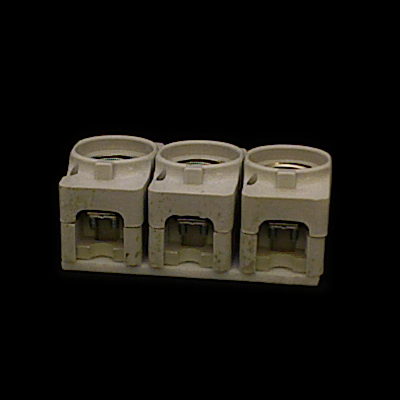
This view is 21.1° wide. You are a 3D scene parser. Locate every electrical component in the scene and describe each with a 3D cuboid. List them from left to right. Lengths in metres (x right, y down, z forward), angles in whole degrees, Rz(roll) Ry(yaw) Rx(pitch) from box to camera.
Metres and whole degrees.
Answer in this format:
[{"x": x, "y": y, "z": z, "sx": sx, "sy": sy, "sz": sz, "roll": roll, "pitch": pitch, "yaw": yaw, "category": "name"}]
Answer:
[{"x": 0.000, "y": 0.000, "z": 0.644, "sx": 0.150, "sy": 0.063, "sz": 0.088, "roll": 3, "pitch": 21, "yaw": 6, "category": "electrical component"}]
